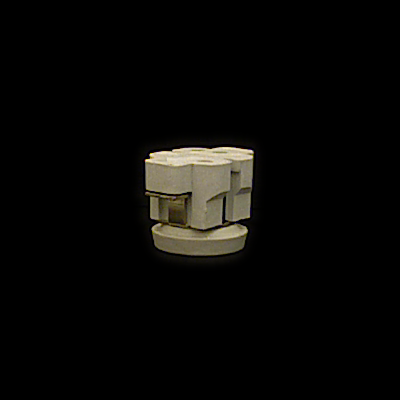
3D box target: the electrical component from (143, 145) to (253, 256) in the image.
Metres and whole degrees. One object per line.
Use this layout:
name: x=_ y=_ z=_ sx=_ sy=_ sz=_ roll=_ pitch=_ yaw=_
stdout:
electrical component: x=0.000 y=0.000 z=0.649 sx=0.057 sy=0.057 sz=0.079 roll=11 pitch=16 yaw=36
